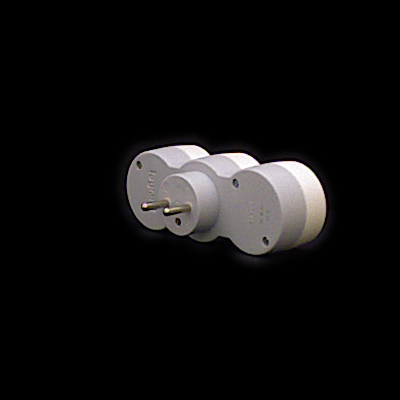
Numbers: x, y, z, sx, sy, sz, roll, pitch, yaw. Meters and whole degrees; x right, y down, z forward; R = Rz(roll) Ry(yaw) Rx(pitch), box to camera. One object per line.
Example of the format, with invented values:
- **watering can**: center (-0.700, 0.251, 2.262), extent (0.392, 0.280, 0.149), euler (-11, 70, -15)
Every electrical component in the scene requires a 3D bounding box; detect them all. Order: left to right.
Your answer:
- **electrical component**: center (0.000, 0.000, 0.643), extent (0.073, 0.052, 0.137), euler (-11, 17, -43)
